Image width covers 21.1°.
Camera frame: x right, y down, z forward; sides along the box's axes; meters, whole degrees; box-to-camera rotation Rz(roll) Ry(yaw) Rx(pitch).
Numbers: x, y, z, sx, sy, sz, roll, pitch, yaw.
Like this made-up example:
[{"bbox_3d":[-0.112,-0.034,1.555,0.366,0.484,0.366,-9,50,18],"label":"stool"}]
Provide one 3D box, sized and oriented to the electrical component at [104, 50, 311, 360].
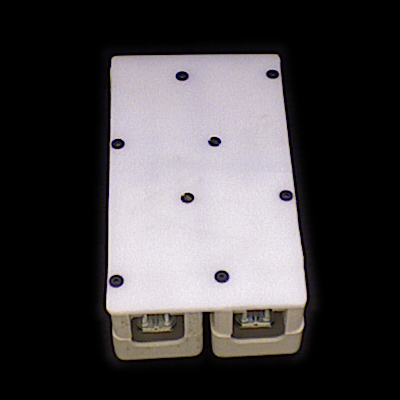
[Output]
[{"bbox_3d":[0.000,0.000,0.627,0.105,0.185,0.060,-1,-38,-2],"label":"electrical component"}]
